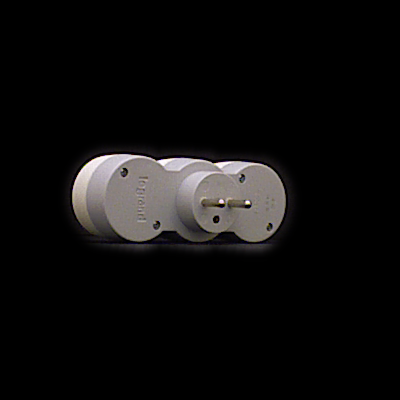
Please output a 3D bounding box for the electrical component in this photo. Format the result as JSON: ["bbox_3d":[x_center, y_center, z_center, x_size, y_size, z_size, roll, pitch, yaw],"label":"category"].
[{"bbox_3d":[0.000,0.000,0.652,0.138,0.052,0.073,2,2,-36],"label":"electrical component"}]
